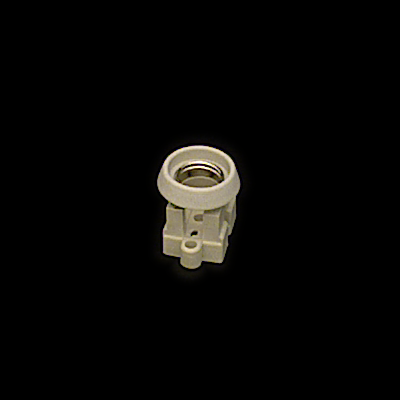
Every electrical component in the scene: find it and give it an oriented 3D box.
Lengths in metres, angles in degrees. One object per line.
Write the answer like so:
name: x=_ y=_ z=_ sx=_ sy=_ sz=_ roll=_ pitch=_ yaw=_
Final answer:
electrical component: x=0.000 y=0.000 z=0.640 sx=0.048 sy=0.056 sz=0.066 roll=9 pitch=43 yaw=7
